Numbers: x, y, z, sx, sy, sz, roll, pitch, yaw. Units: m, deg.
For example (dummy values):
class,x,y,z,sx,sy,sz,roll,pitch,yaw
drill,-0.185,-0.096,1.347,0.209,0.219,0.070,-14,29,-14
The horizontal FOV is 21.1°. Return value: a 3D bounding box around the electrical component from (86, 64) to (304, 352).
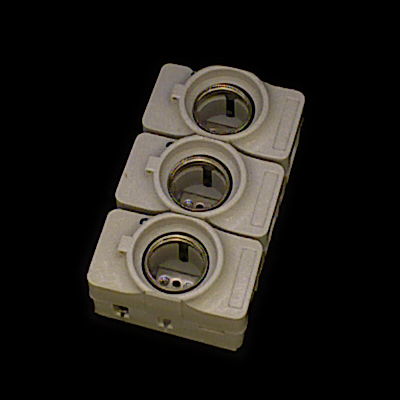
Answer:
class,x,y,z,sx,sy,sz,roll,pitch,yaw
electrical component,0.000,0.000,0.631,0.089,0.149,0.062,14,-27,8
